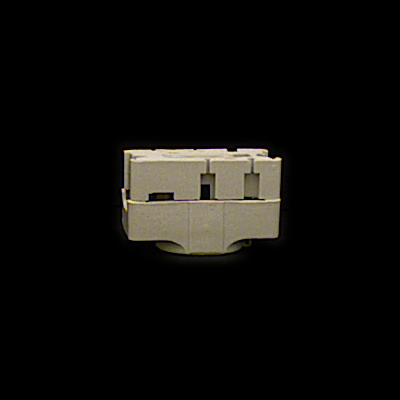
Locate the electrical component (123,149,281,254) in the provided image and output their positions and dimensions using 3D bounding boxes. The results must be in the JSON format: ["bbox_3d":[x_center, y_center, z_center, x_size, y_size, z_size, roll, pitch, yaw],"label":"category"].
[{"bbox_3d":[0.000,0.000,0.652,0.090,0.056,0.049,0,11,-10],"label":"electrical component"}]
